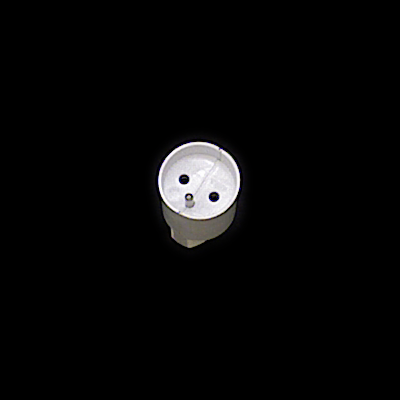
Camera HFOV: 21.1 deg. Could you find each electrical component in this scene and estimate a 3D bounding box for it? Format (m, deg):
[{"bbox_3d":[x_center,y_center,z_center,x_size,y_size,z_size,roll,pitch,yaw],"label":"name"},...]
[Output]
[{"bbox_3d":[0.000,0.000,0.614,0.043,0.043,0.080,0,-16,1],"label":"electrical component"}]
